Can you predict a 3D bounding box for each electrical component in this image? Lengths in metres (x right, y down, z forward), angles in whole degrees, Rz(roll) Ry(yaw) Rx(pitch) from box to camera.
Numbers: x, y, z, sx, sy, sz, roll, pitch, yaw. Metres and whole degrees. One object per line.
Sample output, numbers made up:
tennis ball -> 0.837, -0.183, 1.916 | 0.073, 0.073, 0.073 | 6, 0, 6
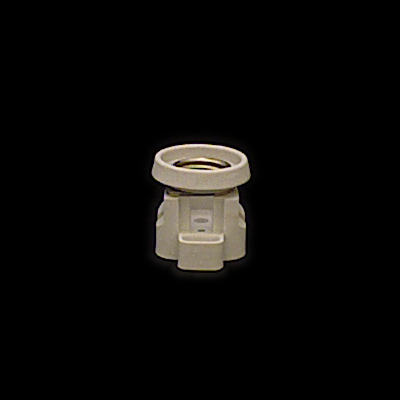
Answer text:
electrical component -> 0.000, 0.000, 0.641 | 0.058, 0.057, 0.077 | 1, 21, 0
